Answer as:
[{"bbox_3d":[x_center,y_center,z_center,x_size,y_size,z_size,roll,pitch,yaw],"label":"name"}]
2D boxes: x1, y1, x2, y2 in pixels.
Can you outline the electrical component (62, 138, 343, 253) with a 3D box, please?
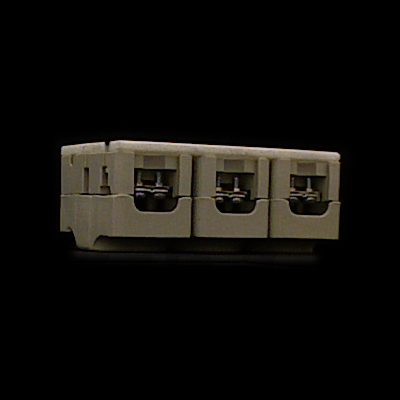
[{"bbox_3d":[0.000,0.000,0.660,0.150,0.062,0.089,2,0,-28],"label":"electrical component"}]
